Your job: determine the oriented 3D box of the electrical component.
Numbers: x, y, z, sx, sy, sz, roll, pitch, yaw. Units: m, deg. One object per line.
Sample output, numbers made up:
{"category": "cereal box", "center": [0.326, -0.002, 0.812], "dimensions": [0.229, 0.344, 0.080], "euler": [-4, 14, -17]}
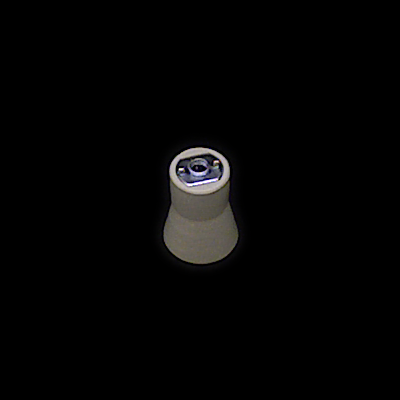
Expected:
{"category": "electrical component", "center": [0.000, 0.000, 0.628], "dimensions": [0.044, 0.044, 0.065], "euler": [0, -39, 0]}
